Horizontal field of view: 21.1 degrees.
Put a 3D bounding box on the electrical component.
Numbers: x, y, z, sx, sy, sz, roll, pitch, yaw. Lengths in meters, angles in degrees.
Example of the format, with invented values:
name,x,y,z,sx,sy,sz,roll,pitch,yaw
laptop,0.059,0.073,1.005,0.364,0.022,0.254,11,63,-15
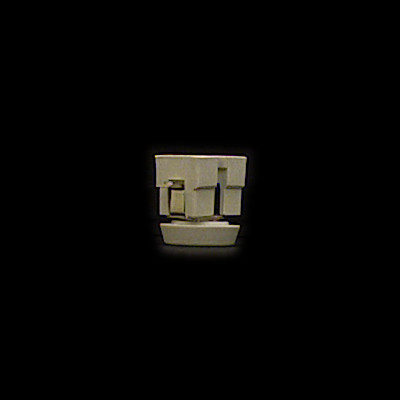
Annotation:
name,x,y,z,sx,sy,sz,roll,pitch,yaw
electrical component,0.000,0.000,0.658,0.048,0.055,0.067,5,4,43
